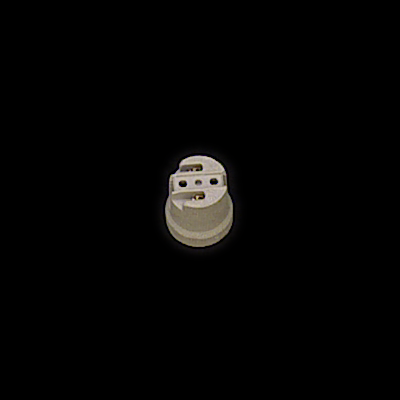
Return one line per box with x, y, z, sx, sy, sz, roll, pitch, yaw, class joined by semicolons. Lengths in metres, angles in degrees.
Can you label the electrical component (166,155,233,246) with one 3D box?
0.000;0.000;0.633;0.040;0.040;0.046;0;-27;-1;electrical component
